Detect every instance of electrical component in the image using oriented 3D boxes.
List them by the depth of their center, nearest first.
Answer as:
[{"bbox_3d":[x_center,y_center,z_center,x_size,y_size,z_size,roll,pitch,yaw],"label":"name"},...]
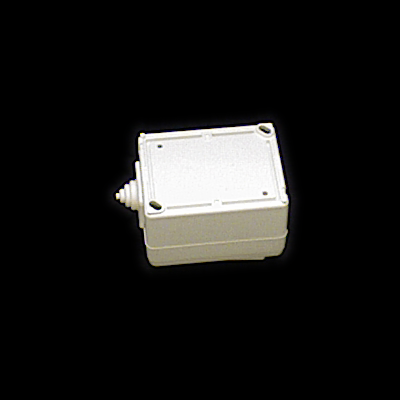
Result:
[{"bbox_3d":[0.000,0.000,0.626,0.096,0.061,0.061,-5,-37,-5],"label":"electrical component"}]
